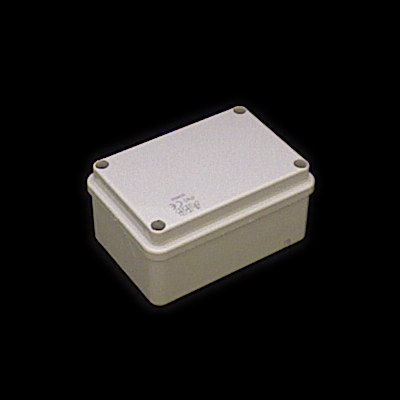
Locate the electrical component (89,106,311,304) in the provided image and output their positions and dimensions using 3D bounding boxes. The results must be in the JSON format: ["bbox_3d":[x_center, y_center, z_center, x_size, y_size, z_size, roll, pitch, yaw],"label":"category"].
[{"bbox_3d":[0.000,0.000,0.630,0.113,0.057,0.077,-23,47,-25],"label":"electrical component"}]
